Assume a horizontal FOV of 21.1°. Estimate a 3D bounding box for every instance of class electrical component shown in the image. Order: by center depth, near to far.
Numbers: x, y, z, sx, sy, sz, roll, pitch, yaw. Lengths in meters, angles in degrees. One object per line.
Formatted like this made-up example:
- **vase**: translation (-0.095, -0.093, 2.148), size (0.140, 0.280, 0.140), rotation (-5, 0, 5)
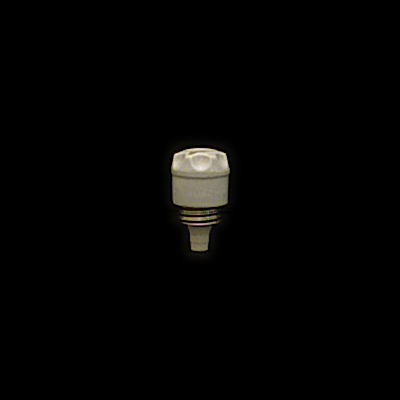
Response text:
- **electrical component**: translation (0.000, 0.000, 0.649), size (0.035, 0.062, 0.035), rotation (1, 12, 0)
